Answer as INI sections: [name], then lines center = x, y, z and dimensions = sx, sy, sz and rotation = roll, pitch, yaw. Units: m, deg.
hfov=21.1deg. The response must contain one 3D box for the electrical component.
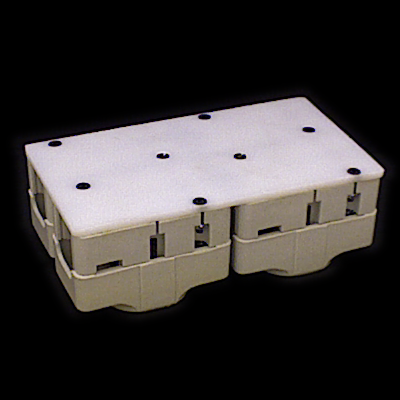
[electrical component]
center = 0.000, 0.000, 0.633
dimensions = 0.186, 0.061, 0.104
rotation = -11, 33, -20
